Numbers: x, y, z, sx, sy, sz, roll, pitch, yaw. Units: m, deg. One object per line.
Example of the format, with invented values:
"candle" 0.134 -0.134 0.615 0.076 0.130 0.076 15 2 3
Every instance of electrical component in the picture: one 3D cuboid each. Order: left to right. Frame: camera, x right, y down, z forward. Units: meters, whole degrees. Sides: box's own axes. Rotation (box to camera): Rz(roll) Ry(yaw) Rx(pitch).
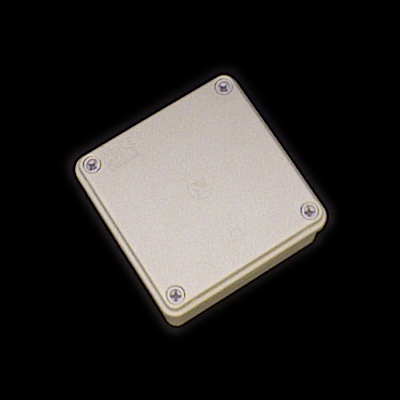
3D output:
"electrical component" 0.000 0.000 0.629 0.109 0.109 0.056 -31 -14 -9
